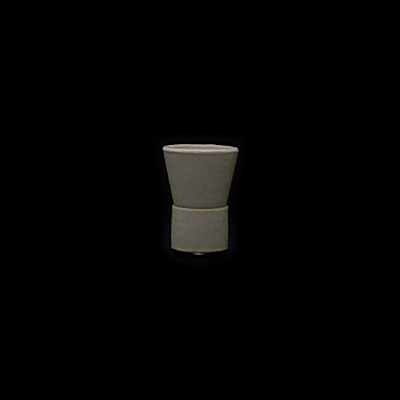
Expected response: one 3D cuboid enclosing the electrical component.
[{"bbox_3d":[0.000,0.000,0.646,0.044,0.066,0.044,1,10,0],"label":"electrical component"}]
